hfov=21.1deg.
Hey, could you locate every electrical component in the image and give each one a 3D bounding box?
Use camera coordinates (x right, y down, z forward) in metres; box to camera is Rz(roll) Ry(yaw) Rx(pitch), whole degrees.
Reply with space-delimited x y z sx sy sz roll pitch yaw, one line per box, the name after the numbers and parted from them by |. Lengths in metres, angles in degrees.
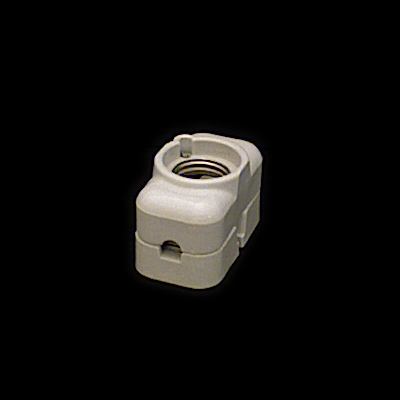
0.000 0.000 0.642 0.053 0.060 0.094 12 33 17 | electrical component
